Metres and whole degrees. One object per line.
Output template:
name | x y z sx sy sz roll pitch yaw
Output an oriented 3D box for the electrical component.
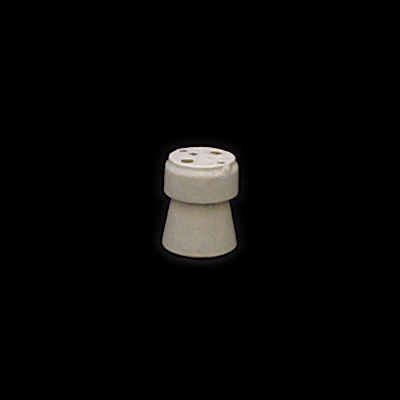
electrical component | 0.000 0.000 0.641 0.045 0.056 0.044 2 21 0
